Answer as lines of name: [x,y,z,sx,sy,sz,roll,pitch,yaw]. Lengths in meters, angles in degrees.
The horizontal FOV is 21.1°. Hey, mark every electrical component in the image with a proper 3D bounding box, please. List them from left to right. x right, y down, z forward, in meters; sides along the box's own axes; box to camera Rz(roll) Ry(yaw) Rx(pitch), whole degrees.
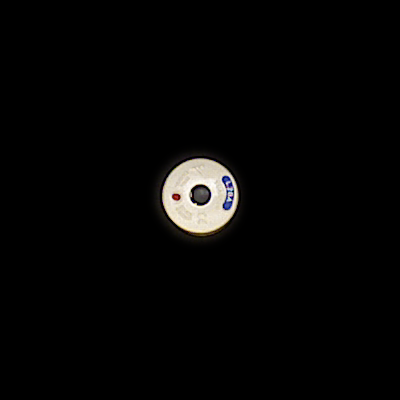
electrical component: [0.000,0.000,0.617,0.040,0.040,0.078,0,-6,1]
